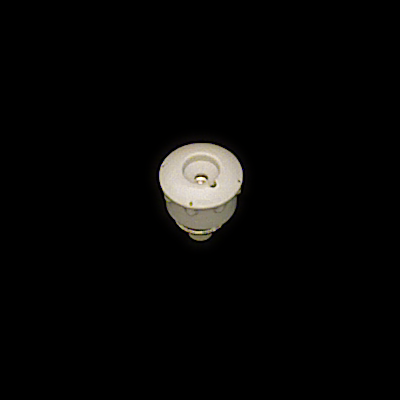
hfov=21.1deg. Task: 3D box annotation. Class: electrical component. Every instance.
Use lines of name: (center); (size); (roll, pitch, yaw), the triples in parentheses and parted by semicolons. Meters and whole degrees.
electrical component: (0.000, 0.000, 0.636); (0.048, 0.048, 0.062); (0, -37, 0)
